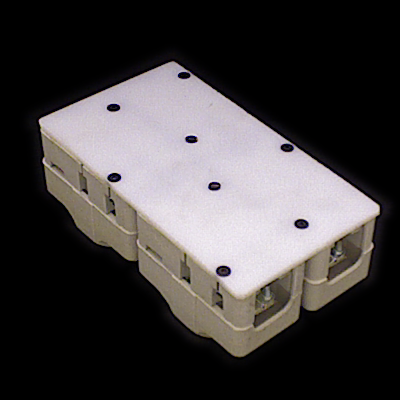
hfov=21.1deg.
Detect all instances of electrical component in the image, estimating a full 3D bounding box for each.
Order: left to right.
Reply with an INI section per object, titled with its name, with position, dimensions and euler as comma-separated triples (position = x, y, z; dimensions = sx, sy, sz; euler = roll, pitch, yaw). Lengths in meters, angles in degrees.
[electrical component]
position = 0.000, 0.000, 0.629
dimensions = 0.105, 0.061, 0.184
euler = -29, 50, -29
